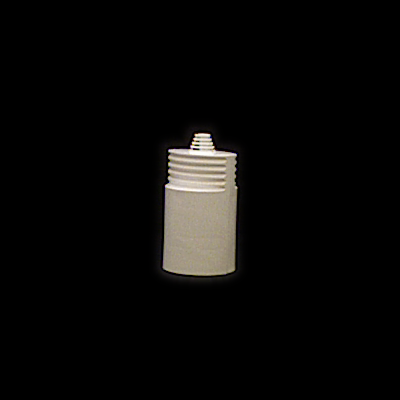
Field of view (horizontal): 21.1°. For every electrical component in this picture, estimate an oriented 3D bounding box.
[{"bbox_3d":[0.000,0.000,0.642,0.043,0.081,0.043,1,11,0],"label":"electrical component"}]
